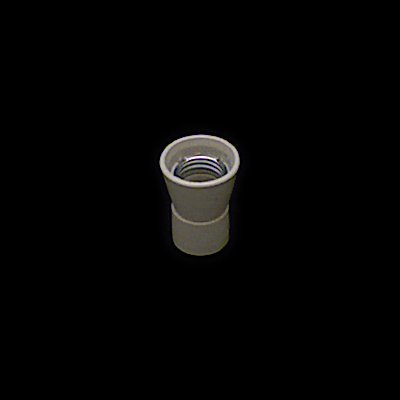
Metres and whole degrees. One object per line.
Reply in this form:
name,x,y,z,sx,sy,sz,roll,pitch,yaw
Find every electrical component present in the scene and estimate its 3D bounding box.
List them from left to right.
electrical component,0.000,0.000,0.628,0.044,0.066,0.044,0,43,0
